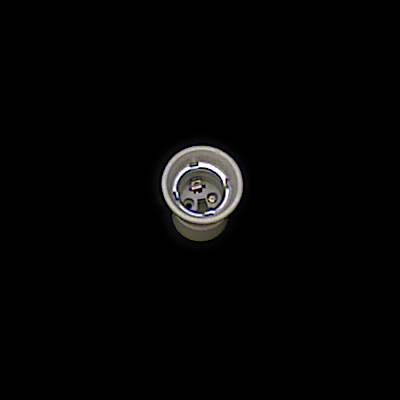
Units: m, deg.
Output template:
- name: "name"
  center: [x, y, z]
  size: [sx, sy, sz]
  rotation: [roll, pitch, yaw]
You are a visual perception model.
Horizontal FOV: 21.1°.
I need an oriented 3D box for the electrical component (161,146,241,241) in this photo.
- name: "electrical component"
  center: [0.000, 0.000, 0.624]
  size: [0.044, 0.044, 0.065]
  rotation: [0, -17, -1]
